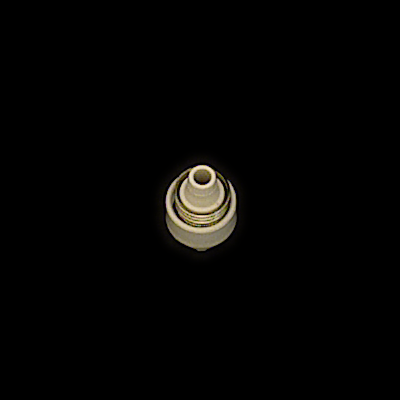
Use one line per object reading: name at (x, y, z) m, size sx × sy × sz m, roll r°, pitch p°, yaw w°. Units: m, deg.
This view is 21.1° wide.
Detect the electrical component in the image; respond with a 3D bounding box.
electrical component at (0.000, 0.000, 0.634) m, size 0.043 × 0.043 × 0.062 m, roll 0°, pitch -27°, yaw -1°
